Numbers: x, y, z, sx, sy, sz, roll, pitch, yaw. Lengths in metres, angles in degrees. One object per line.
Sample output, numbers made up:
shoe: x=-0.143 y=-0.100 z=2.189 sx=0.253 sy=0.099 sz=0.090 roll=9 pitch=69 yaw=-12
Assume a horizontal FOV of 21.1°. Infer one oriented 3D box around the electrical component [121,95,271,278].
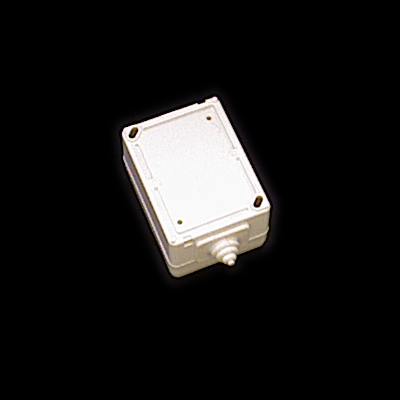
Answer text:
electrical component: x=0.000 y=0.000 z=0.626 sx=0.062 sy=0.096 sz=0.060 roll=-20 pitch=-25 yaw=-10
